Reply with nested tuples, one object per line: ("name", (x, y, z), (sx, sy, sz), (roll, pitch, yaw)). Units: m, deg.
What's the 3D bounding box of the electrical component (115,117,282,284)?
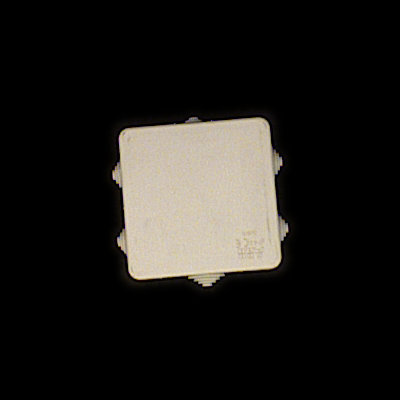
("electrical component", (0.000, 0.000, 0.642), (0.100, 0.100, 0.048), (-5, -6, -1))
